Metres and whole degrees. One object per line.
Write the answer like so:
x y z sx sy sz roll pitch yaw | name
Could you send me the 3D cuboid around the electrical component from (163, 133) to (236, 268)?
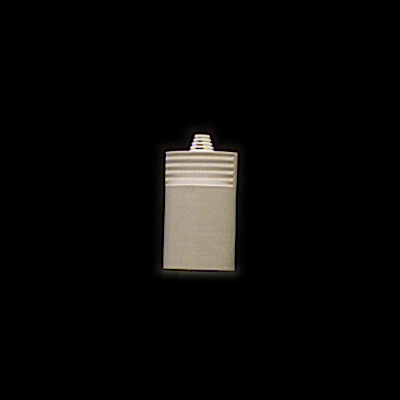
0.000 0.000 0.649 0.043 0.081 0.043 1 1 0 | electrical component
